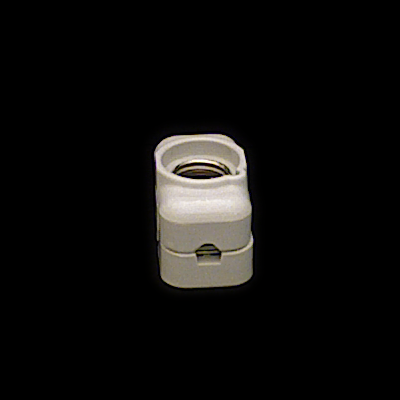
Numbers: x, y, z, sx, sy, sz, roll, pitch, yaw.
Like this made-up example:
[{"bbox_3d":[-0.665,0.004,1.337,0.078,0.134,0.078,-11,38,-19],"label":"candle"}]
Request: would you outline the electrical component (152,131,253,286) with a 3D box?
[{"bbox_3d":[0.000,0.000,0.641,0.054,0.060,0.093,-3,33,-5],"label":"electrical component"}]
